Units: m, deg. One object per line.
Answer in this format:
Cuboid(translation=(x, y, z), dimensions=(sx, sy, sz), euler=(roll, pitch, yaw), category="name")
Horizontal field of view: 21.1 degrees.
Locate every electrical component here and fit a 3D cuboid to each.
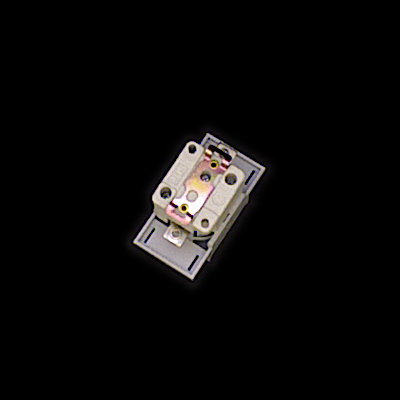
Cuboid(translation=(0.000, 0.000, 0.625), dimensions=(0.042, 0.081, 0.063), euler=(31, -15, 9), category="electrical component")
